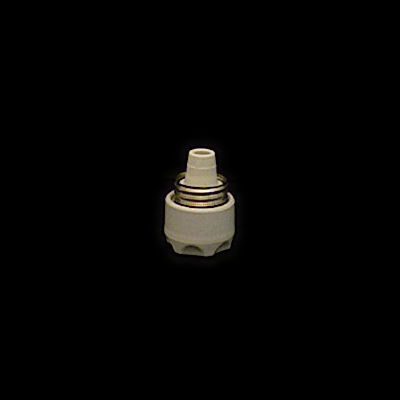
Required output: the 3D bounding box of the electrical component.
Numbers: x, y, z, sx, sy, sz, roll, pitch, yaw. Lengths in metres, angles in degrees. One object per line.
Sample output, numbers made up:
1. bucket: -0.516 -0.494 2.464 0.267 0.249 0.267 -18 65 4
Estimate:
1. electrical component: 0.000 0.000 0.646 0.043 0.063 0.043 2 21 0
